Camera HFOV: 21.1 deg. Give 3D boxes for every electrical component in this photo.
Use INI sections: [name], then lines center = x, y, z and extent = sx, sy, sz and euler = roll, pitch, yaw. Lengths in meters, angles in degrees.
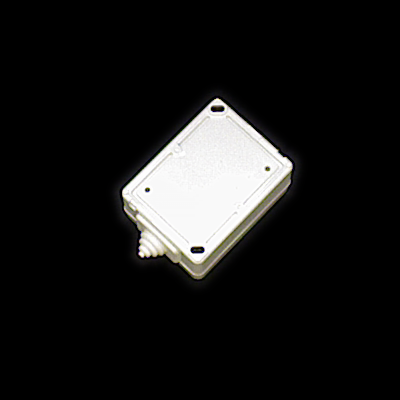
[electrical component]
center = 0.000, 0.000, 0.623
extent = 0.062, 0.097, 0.060
euler = 42, -13, 11
